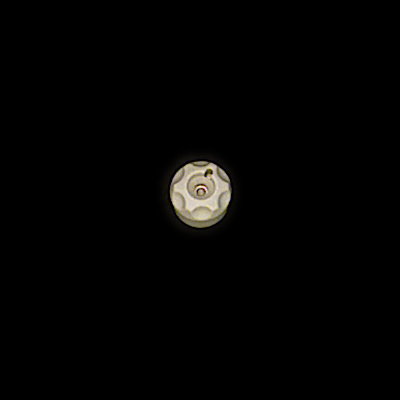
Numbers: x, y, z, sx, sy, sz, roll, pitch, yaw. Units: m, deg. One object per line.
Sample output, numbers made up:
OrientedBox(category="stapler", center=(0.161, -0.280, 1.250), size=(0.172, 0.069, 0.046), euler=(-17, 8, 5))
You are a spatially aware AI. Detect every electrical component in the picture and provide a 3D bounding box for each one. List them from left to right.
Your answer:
OrientedBox(category="electrical component", center=(0.000, 0.000, 0.634), size=(0.035, 0.035, 0.061), euler=(0, -16, 1))
